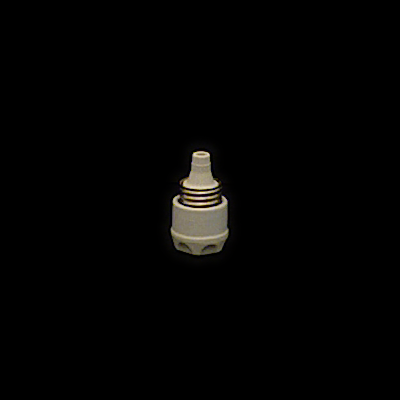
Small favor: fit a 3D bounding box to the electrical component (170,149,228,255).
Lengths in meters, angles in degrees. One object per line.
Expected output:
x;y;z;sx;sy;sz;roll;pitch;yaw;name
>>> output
0.000;0.000;0.651;0.035;0.062;0.034;2;21;0;electrical component
